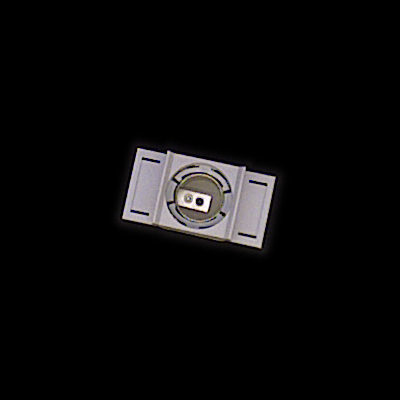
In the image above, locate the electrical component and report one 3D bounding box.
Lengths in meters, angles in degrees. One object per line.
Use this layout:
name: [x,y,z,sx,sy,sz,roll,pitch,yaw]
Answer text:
electrical component: [0.000,0.000,0.625,0.081,0.042,0.063,12,-5,1]
